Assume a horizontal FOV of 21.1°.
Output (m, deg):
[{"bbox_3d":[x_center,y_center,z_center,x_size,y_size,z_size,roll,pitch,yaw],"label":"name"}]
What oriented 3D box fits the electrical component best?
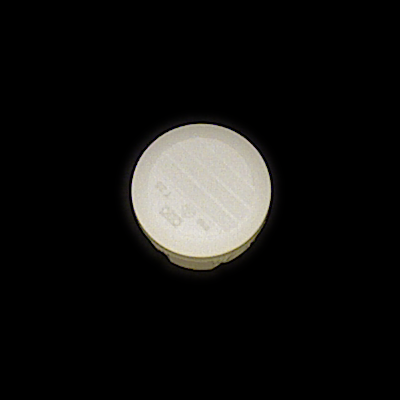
[{"bbox_3d":[0.000,0.000,0.630,0.080,0.080,0.050,0,-17,0],"label":"electrical component"}]
